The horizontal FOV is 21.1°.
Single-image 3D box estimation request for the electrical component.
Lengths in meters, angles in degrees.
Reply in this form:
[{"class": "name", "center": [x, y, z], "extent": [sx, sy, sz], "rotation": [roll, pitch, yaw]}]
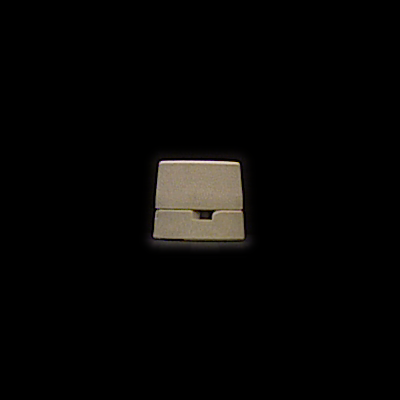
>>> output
[{"class": "electrical component", "center": [0.000, 0.000, 0.649], "extent": [0.055, 0.047, 0.055], "rotation": [0, 1, 0]}]
